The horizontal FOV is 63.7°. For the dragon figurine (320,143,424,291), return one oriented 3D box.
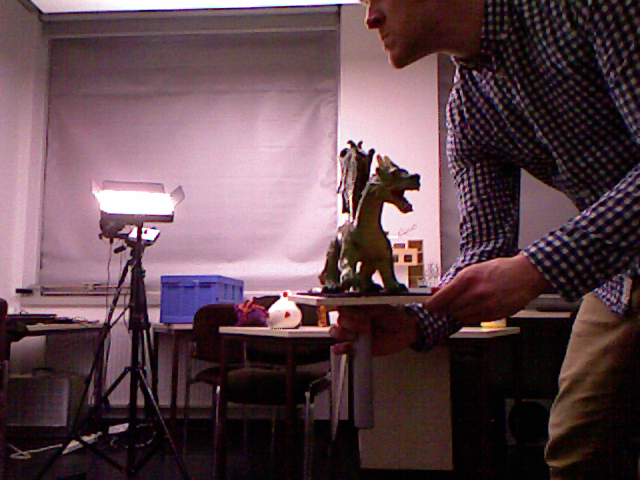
[{"bbox_3d":[0.055,-0.037,0.846,0.122,0.243,0.409,0,-2,-18],"label":"dragon figurine"}]
